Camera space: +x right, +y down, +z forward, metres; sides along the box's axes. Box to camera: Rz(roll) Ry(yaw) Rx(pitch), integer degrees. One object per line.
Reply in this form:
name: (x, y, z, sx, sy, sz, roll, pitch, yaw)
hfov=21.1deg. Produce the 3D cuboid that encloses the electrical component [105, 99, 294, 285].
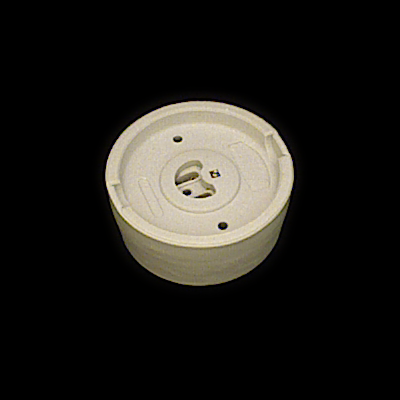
electrical component: (0.000, 0.000, 0.638, 0.108, 0.107, 0.061, 0, -37, 0)
